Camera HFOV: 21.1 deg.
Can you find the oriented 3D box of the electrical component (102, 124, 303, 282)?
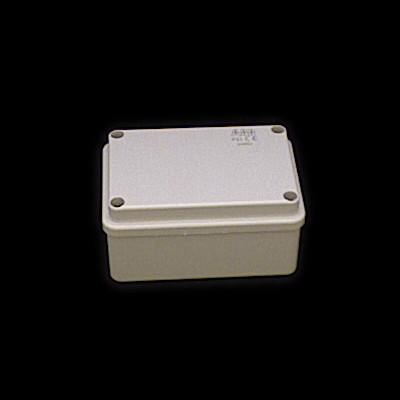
[{"bbox_3d":[0.000,0.000,0.633,0.113,0.057,0.077,-2,42,-3],"label":"electrical component"}]
